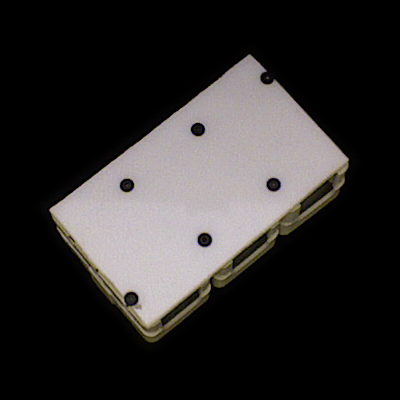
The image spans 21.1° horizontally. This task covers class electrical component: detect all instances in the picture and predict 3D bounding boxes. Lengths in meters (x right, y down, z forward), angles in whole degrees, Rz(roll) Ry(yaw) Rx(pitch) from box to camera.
[{"bbox_3d":[0.000,0.000,0.631,0.150,0.089,0.062,-38,-13,-11],"label":"electrical component"}]
